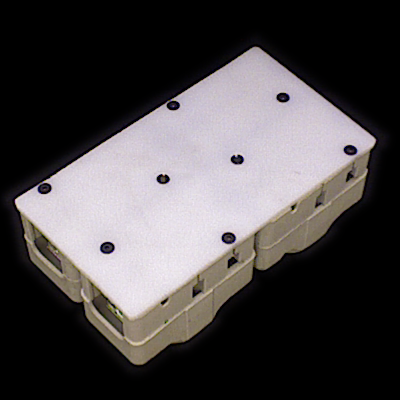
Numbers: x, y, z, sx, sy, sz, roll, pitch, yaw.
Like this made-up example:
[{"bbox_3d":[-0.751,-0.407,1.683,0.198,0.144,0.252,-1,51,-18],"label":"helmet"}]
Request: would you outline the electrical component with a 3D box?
[{"bbox_3d":[0.000,0.000,0.627,0.186,0.060,0.105,-35,60,-25],"label":"electrical component"}]
